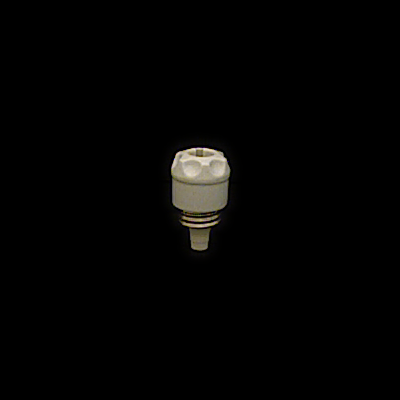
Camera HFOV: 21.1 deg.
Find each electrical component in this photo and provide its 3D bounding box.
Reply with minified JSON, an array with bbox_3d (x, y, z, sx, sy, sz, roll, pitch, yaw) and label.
[{"bbox_3d":[0.000,0.000,0.648,0.035,0.062,0.034,1,22,0],"label":"electrical component"}]
